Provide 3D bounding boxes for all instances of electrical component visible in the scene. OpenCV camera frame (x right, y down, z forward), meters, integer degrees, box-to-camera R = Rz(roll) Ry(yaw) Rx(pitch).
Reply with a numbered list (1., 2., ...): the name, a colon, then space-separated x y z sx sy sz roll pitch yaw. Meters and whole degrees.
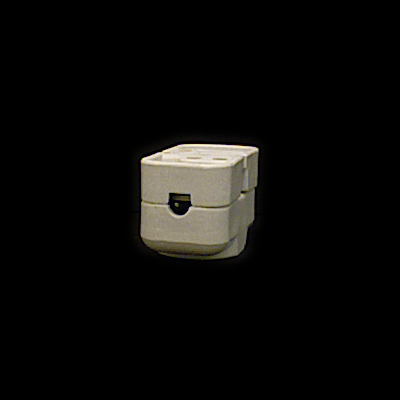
1. electrical component: 0.000 0.000 0.652 0.053 0.060 0.095 4 11 15
